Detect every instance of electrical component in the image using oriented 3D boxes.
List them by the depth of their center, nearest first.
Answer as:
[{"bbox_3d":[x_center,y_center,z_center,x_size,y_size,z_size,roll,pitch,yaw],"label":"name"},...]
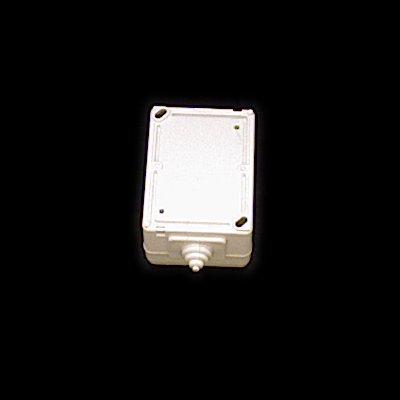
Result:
[{"bbox_3d":[0.000,0.000,0.627,0.062,0.096,0.060,2,-26,1],"label":"electrical component"}]
